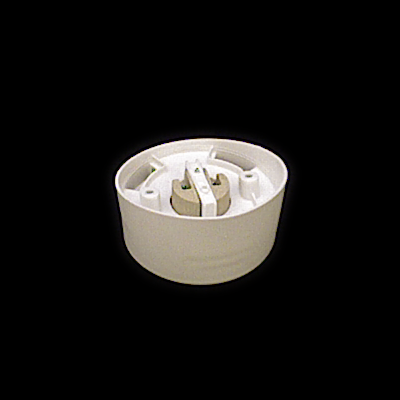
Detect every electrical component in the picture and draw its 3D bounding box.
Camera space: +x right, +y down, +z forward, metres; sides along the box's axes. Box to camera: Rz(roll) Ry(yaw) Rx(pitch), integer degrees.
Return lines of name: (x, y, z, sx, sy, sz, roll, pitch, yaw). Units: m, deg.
electrical component: (0.000, 0.000, 0.628, 0.099, 0.065, 0.098, 1, 42, -1)
